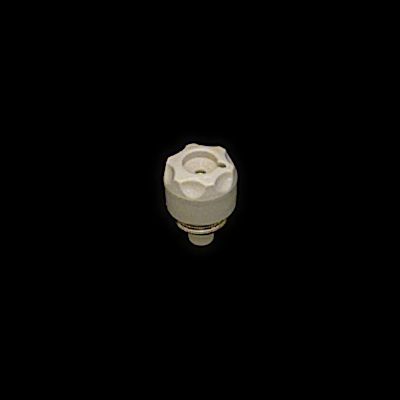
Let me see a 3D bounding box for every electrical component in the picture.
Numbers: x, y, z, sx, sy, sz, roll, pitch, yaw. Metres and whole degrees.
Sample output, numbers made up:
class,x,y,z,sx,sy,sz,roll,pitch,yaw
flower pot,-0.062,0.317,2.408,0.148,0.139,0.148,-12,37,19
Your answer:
class,x,y,z,sx,sy,sz,roll,pitch,yaw
electrical component,0.000,0.000,0.638,0.043,0.062,0.043,0,43,1
